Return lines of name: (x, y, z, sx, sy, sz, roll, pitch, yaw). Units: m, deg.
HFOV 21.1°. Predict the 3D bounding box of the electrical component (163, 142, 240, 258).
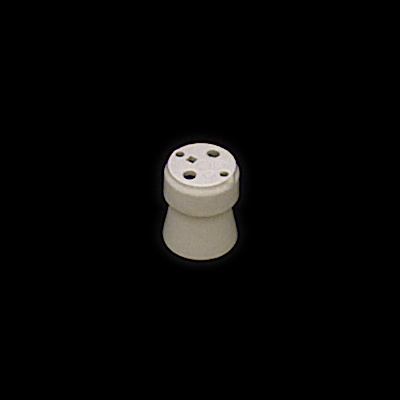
electrical component: (0.000, 0.000, 0.633, 0.045, 0.055, 0.044, 1, 42, -1)
